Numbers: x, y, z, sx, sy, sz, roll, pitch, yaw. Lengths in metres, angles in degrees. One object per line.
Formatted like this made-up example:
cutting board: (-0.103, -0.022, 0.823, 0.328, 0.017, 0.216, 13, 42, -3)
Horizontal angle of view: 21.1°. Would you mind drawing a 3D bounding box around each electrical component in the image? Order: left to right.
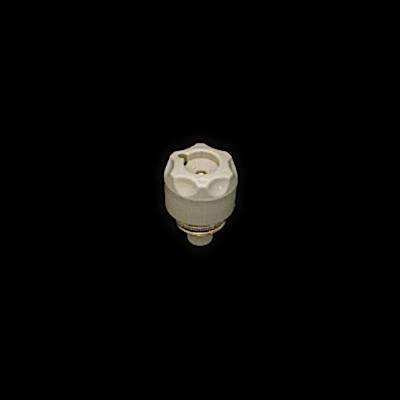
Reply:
electrical component: (0.000, 0.000, 0.638, 0.043, 0.062, 0.043, 1, 43, -1)
